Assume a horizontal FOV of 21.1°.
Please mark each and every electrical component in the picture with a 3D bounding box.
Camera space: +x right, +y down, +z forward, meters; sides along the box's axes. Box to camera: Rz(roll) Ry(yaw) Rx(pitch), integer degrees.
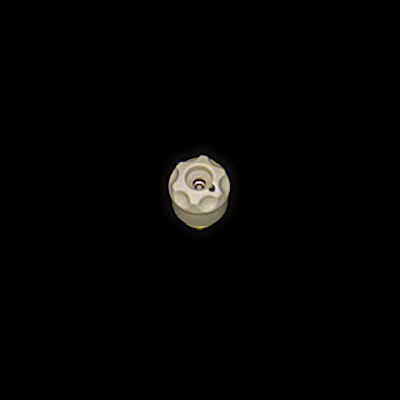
[{"bbox_3d":[0.000,0.000,0.632,0.035,0.035,0.061,0,-26,0],"label":"electrical component"}]
